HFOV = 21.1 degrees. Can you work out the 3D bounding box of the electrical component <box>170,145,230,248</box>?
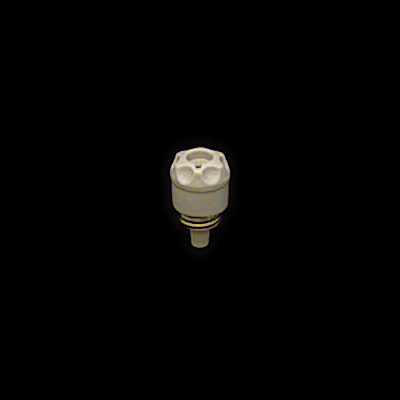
[{"bbox_3d":[0.000,0.000,0.639,0.035,0.062,0.035,1,32,0],"label":"electrical component"}]
